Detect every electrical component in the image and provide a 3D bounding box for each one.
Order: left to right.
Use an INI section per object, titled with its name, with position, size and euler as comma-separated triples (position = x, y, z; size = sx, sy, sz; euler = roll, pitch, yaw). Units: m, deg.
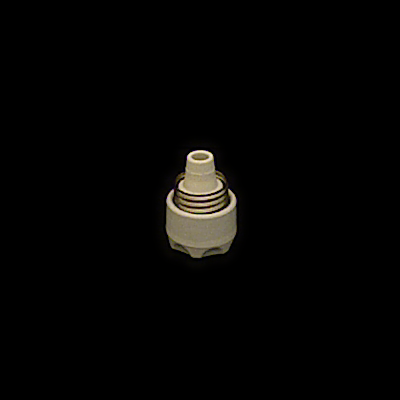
[electrical component]
position = 0.000, 0.000, 0.642
size = 0.043, 0.063, 0.043
euler = 0, 31, 1
